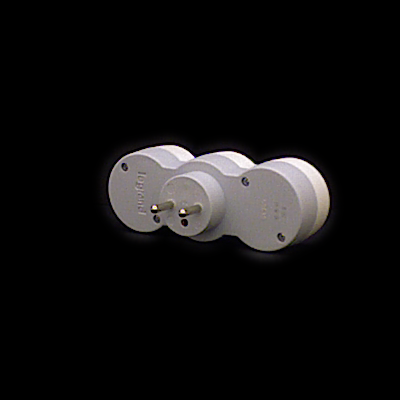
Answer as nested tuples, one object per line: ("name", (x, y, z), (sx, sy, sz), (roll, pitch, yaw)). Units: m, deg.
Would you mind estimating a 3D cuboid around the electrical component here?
("electrical component", (0.000, 0.000, 0.644), (0.138, 0.052, 0.073), (8, 15, 30))
